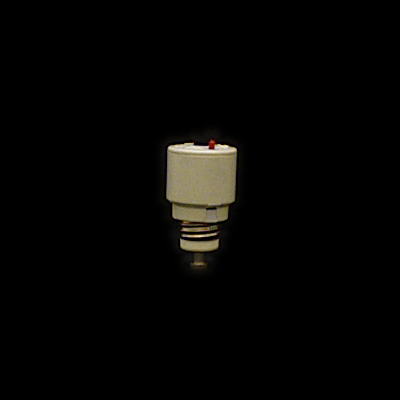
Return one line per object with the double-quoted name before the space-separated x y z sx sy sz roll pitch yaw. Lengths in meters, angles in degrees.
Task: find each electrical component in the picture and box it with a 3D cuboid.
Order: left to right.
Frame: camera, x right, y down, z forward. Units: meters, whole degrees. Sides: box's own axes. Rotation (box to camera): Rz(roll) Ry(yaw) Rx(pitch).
"electrical component" 0.000 0.000 0.640 0.040 0.079 0.040 1 12 0
